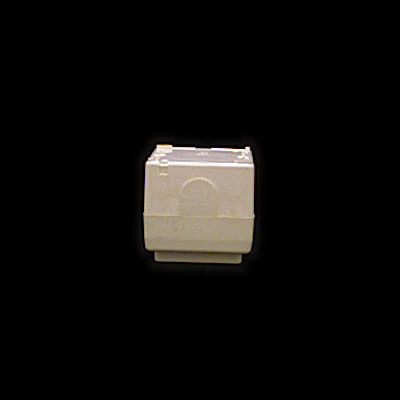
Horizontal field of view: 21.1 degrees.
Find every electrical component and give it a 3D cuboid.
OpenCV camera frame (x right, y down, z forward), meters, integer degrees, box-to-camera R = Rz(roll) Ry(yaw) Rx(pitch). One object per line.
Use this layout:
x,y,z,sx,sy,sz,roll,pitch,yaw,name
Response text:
0.000,0.000,0.646,0.062,0.061,0.095,1,10,1,electrical component
